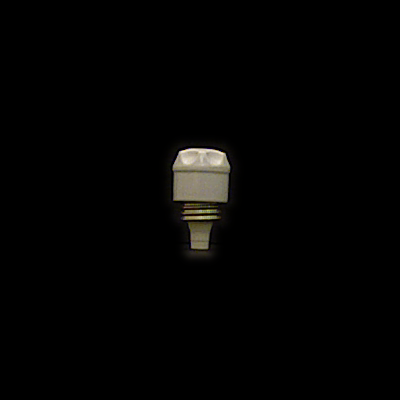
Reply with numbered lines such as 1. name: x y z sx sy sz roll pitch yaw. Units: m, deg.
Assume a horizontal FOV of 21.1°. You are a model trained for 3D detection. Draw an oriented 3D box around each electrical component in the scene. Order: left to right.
1. electrical component: 0.000 0.000 0.659 0.035 0.061 0.035 1 1 0
